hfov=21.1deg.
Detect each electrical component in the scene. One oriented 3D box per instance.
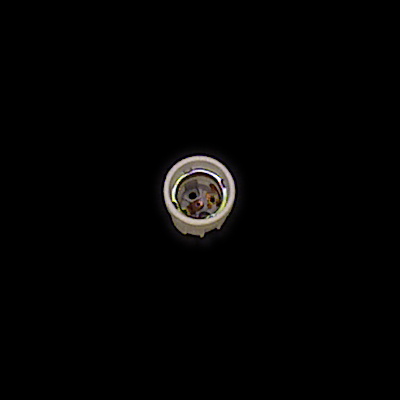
[{"bbox_3d":[0.000,0.000,0.626,0.040,0.040,0.046,0,-17,0],"label":"electrical component"}]
